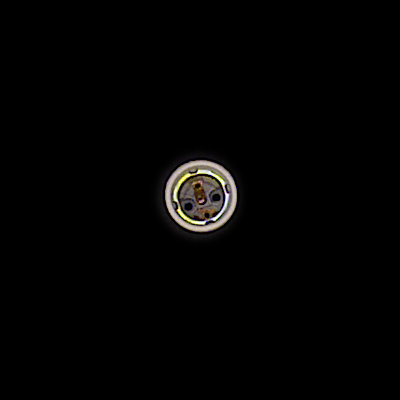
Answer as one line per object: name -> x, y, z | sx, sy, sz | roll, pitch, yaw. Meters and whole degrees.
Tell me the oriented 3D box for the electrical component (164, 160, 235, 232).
electrical component -> 0.000, 0.000, 0.627 | 0.040, 0.040, 0.046 | 0, -6, 0
